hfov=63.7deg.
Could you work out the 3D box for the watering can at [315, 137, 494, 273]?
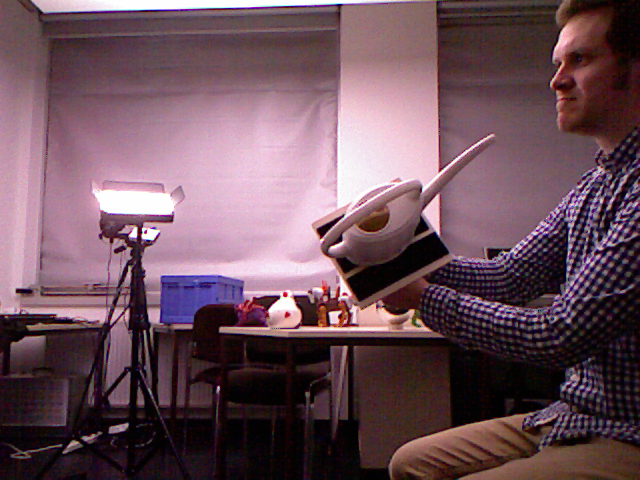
[{"bbox_3d":[0.149,-0.050,0.922,0.350,0.106,0.221,-29,-20,-6],"label":"watering can"}]
